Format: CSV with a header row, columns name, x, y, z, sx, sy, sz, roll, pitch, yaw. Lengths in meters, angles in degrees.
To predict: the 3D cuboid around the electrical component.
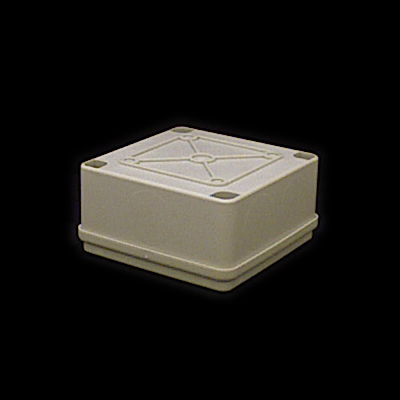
name,x,y,z,sx,sy,sz,roll,pitch,yaw
electrical component,0.000,0.000,0.641,0.108,0.057,0.108,15,24,31
